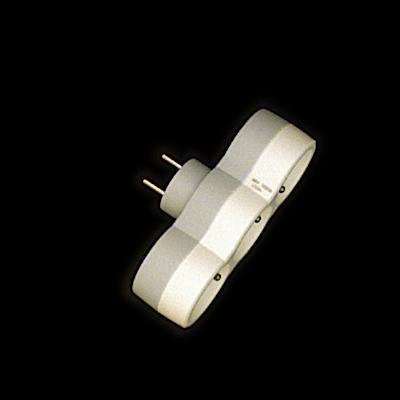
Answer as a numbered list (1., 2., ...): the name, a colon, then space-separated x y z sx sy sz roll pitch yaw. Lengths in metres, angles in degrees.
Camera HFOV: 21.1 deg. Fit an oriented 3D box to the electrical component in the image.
1. electrical component: 0.000 0.000 0.638 0.073 0.139 0.052 34 -13 11
